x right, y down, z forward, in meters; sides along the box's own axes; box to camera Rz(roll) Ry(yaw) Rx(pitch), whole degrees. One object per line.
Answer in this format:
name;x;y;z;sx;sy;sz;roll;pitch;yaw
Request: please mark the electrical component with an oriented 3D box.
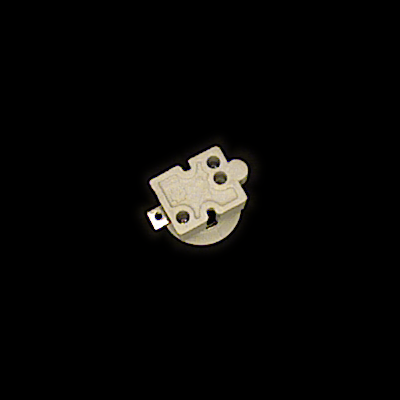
electrical component;0.000;0.000;0.638;0.067;0.048;0.055;-27;-13;-7
